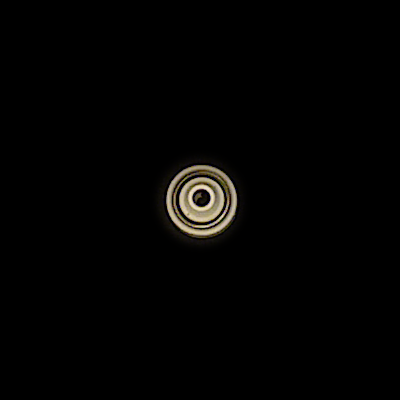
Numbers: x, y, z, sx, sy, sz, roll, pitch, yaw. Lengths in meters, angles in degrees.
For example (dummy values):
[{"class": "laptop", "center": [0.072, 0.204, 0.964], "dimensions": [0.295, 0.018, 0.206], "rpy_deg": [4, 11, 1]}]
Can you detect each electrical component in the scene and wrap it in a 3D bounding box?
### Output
[{"class": "electrical component", "center": [0.000, 0.000, 0.635], "dimensions": [0.043, 0.043, 0.062], "rpy_deg": [0, -4, 1]}]
